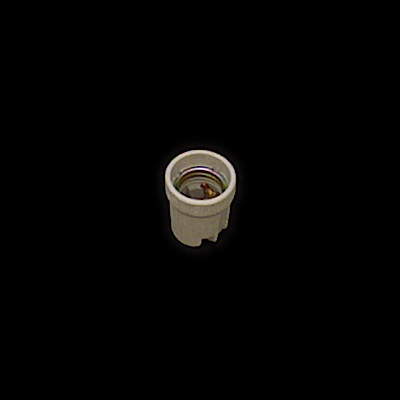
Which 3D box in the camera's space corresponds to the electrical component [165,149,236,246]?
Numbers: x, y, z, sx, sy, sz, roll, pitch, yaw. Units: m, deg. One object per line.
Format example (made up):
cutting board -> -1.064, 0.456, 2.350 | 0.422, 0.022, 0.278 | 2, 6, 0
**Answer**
electrical component -> 0.000, 0.000, 0.629 | 0.040, 0.040, 0.046 | 0, -38, -1
